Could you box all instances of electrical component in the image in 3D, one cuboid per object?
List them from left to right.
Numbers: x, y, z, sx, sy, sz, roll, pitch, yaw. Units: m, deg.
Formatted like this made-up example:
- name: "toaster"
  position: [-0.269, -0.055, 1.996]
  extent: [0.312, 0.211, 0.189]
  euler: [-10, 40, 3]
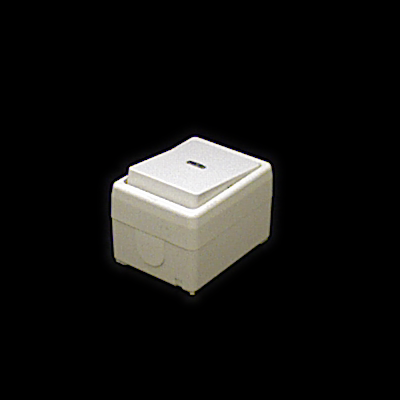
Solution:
- name: "electrical component"
  position: [0.000, 0.000, 0.635]
  extent: [0.061, 0.061, 0.095]
  euler: [22, 37, 31]
